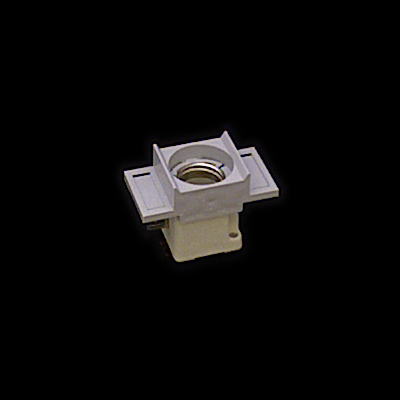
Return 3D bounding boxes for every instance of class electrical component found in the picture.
[{"bbox_3d":[0.000,0.000,0.628,0.081,0.064,0.041,-11,44,-14],"label":"electrical component"}]
